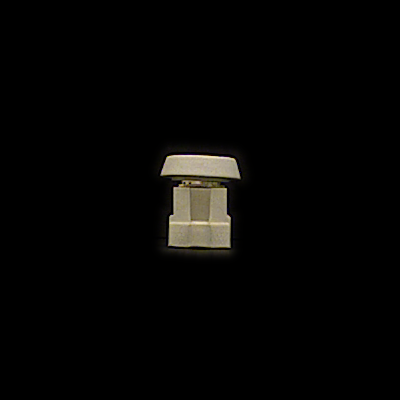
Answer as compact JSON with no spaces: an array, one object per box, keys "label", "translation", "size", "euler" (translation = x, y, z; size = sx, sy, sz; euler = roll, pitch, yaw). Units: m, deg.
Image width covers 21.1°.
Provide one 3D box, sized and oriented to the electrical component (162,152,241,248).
[{"label":"electrical component","translation":[0.000,0.000,0.657],"size":[0.048,0.055,0.066],"euler":[3,1,0]}]
